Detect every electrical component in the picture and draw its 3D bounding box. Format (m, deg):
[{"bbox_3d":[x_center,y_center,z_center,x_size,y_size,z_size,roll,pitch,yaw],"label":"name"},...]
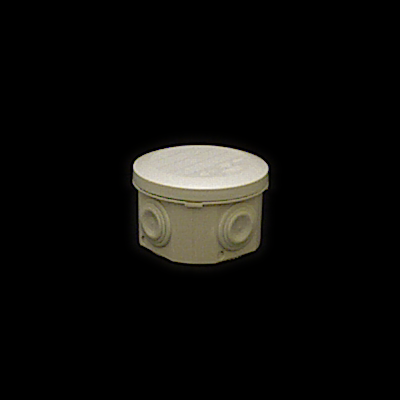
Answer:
[{"bbox_3d":[0.000,0.000,0.638,0.080,0.051,0.079,1,21,0],"label":"electrical component"}]
